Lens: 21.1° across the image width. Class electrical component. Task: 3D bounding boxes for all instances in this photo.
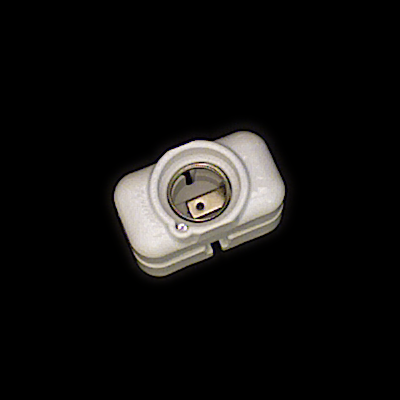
[{"bbox_3d":[0.000,0.000,0.633,0.095,0.054,0.059,-23,-15,-6],"label":"electrical component"}]
